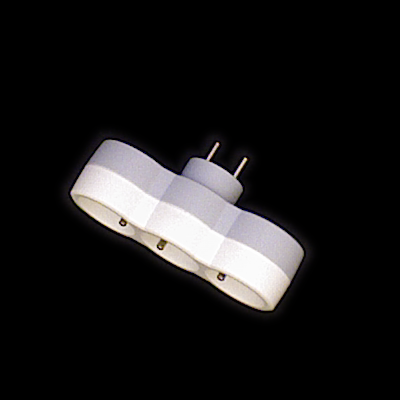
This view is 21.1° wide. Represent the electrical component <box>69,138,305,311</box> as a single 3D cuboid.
[{"bbox_3d":[0.000,0.000,0.631,0.138,0.074,0.052,29,-17,9],"label":"electrical component"}]
